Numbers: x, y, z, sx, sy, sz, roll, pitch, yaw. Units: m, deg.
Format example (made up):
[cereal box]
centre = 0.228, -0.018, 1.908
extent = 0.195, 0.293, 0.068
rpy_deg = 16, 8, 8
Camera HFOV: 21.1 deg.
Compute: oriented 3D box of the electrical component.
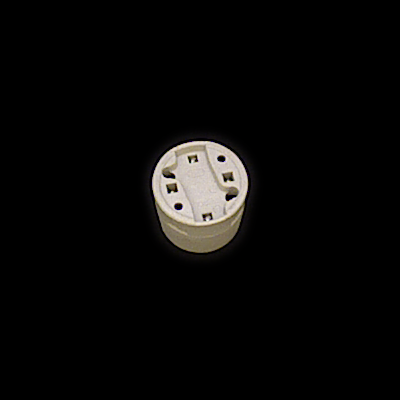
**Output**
[electrical component]
centre = 0.000, 0.000, 0.633
extent = 0.055, 0.056, 0.047
rpy_deg = 0, -27, 0
